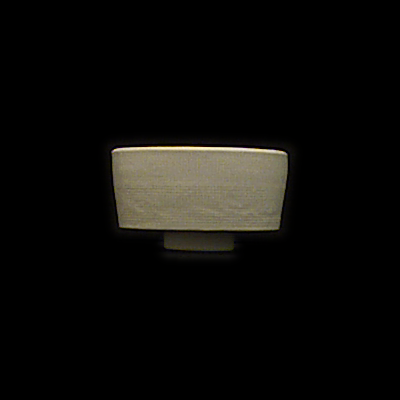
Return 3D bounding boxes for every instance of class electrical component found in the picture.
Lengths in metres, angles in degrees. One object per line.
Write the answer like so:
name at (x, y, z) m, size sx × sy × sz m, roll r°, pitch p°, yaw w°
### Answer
electrical component at (0.000, 0.000, 0.658) m, size 0.108 × 0.060 × 0.108 m, roll 1°, pitch 1°, yaw 0°
